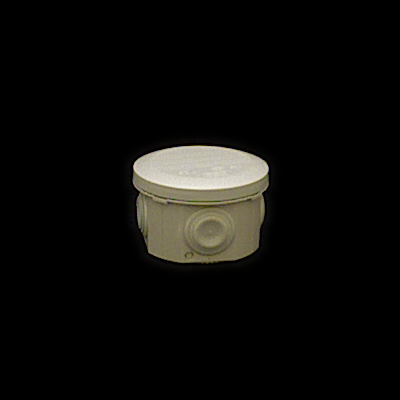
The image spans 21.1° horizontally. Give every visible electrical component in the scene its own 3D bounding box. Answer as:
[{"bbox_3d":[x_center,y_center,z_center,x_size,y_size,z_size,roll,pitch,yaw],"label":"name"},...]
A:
[{"bbox_3d":[0.000,0.000,0.639,0.080,0.051,0.079,1,21,0],"label":"electrical component"}]
